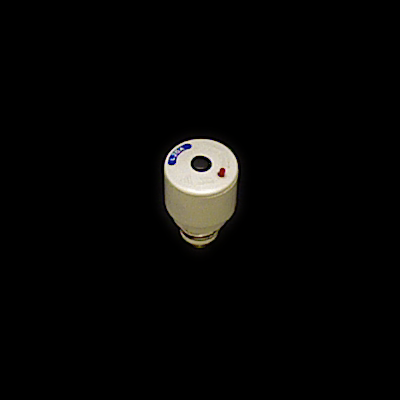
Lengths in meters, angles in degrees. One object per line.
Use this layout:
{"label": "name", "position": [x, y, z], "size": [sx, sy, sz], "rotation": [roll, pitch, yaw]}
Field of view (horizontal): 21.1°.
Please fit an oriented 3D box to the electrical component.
{"label": "electrical component", "position": [0.000, 0.000, 0.619], "size": [0.040, 0.040, 0.078], "rotation": [0, -38, -1]}
